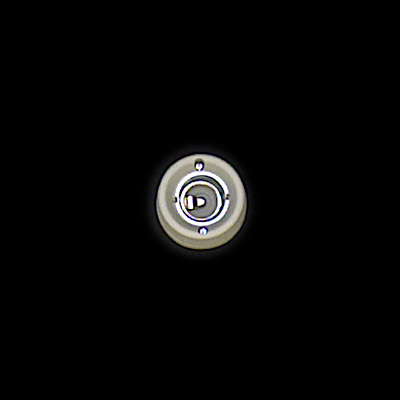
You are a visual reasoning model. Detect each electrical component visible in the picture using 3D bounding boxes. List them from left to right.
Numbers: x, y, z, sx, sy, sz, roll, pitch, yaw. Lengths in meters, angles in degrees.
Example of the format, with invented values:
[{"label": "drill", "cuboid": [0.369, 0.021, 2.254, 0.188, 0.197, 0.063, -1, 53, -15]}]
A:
[{"label": "electrical component", "cuboid": [0.000, 0.000, 0.634, 0.055, 0.055, 0.047, 0, -8, 0]}]
